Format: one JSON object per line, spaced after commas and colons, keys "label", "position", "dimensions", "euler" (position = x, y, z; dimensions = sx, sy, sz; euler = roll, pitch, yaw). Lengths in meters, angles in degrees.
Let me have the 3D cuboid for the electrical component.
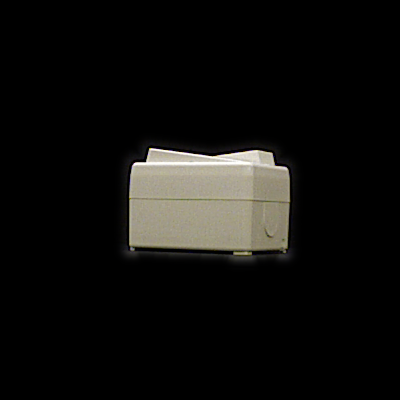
{"label": "electrical component", "position": [0.000, 0.000, 0.651], "dimensions": [0.096, 0.061, 0.062], "euler": [2, 0, 27]}
